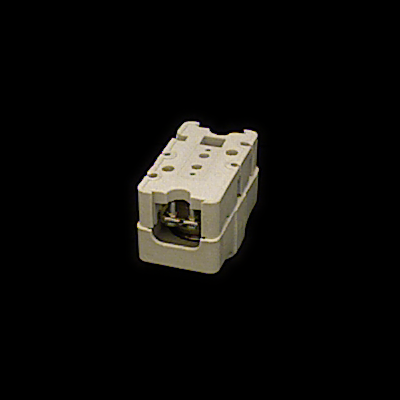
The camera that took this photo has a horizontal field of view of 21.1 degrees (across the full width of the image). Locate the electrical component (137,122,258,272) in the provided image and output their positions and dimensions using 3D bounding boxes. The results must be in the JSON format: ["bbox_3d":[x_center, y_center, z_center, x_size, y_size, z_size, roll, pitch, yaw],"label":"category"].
[{"bbox_3d":[0.000,0.000,0.643,0.050,0.056,0.089,10,32,15],"label":"electrical component"}]
